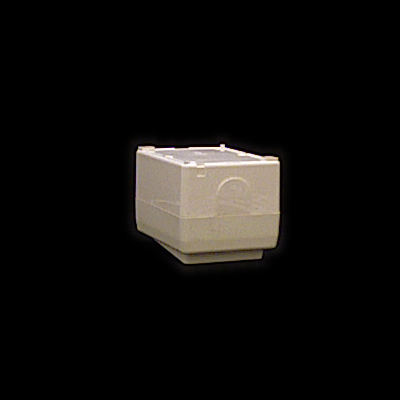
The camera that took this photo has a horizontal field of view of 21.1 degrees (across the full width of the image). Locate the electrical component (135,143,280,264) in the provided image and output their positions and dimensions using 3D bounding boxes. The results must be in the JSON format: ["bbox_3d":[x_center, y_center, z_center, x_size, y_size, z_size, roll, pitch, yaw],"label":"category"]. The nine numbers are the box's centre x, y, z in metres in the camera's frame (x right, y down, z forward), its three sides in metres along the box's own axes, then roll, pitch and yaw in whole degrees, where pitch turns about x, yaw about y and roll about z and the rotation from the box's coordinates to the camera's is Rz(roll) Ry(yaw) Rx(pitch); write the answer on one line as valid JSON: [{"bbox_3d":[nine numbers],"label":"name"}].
[{"bbox_3d":[0.000,0.000,0.647,0.062,0.061,0.095,-4,11,-23],"label":"electrical component"}]
